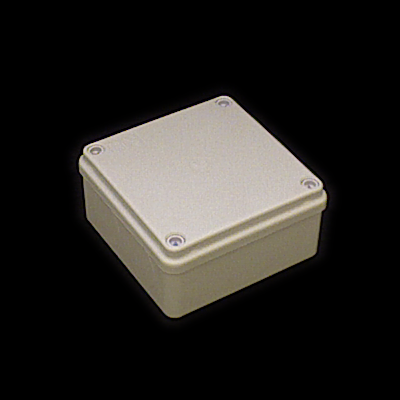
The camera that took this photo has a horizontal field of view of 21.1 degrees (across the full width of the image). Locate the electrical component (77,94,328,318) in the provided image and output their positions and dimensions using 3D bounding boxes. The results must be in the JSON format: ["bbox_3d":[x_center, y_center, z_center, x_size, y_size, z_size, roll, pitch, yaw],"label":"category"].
[{"bbox_3d":[0.000,0.000,0.632,0.108,0.056,0.108,-23,48,-24],"label":"electrical component"}]
